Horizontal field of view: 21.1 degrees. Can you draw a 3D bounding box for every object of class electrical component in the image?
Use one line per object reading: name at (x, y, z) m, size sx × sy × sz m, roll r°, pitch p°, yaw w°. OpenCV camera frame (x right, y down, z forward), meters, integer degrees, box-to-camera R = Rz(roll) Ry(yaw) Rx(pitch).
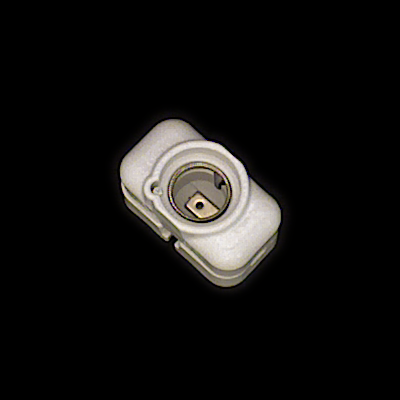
electrical component at (0.000, 0.000, 0.633) m, size 0.095 × 0.054 × 0.059 m, roll 41°, pitch -12°, yaw 11°
